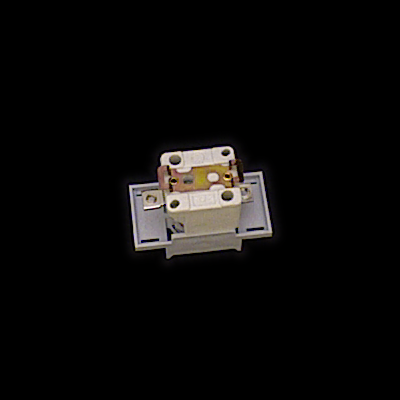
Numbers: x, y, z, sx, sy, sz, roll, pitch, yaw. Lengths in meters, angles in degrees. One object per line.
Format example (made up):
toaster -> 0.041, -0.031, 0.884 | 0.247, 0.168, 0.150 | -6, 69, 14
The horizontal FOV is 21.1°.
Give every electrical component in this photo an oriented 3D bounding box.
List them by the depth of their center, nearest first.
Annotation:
electrical component -> 0.000, 0.000, 0.626 | 0.081, 0.042, 0.063 | -7, -27, -4
